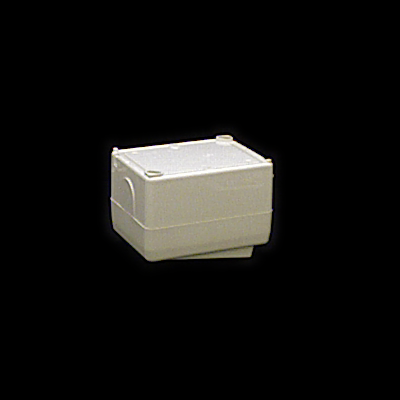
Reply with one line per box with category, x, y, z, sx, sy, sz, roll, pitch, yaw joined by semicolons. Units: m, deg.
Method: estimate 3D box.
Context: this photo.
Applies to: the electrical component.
electrical component;0.000;0.000;0.644;0.096;0.062;0.061;-8;22;-23
